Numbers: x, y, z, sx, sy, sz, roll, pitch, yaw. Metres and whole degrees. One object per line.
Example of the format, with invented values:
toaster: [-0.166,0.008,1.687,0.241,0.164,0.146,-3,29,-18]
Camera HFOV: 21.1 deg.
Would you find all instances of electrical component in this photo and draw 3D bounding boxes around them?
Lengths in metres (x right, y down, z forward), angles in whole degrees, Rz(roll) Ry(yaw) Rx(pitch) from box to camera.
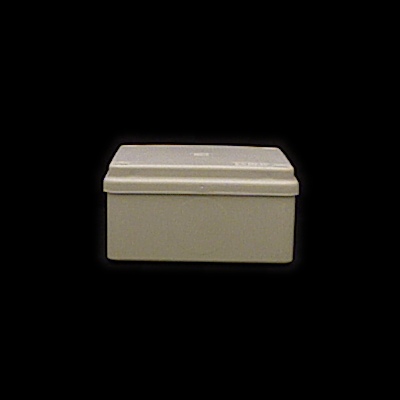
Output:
electrical component: [0.000,0.000,0.646,0.109,0.056,0.108,1,10,-1]
